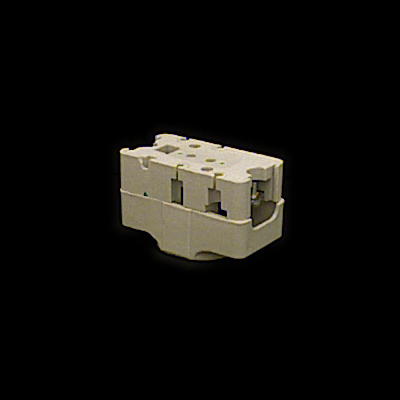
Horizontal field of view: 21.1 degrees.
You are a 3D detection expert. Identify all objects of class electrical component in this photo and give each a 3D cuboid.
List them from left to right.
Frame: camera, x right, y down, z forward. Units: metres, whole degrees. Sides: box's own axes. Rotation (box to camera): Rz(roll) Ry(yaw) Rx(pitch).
[{"bbox_3d":[0.000,0.000,0.646,0.088,0.056,0.050,15,26,32],"label":"electrical component"}]
